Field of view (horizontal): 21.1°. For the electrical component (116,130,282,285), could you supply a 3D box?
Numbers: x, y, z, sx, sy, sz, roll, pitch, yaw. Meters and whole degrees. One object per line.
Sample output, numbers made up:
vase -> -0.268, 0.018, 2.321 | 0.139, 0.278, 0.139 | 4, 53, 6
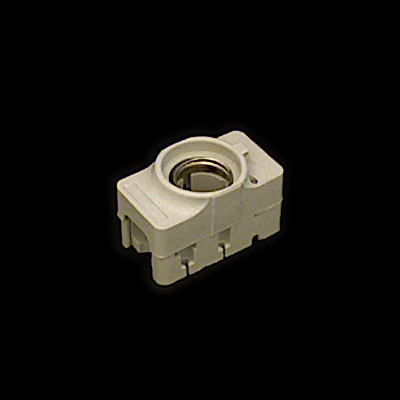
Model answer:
electrical component -> 0.000, 0.000, 0.639 | 0.090, 0.056, 0.049 | -25, 49, -25
